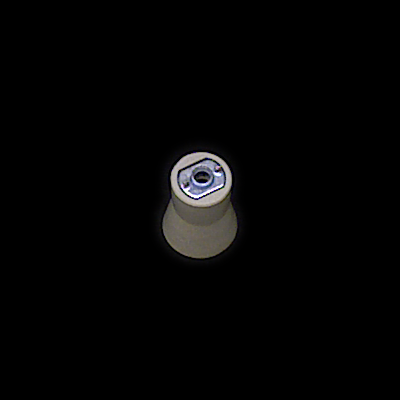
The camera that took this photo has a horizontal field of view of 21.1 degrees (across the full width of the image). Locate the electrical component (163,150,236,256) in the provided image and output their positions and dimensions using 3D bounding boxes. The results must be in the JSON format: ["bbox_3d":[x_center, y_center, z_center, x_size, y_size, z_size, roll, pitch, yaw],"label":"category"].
[{"bbox_3d":[0.000,0.000,0.624,0.044,0.044,0.065,0,-26,-1],"label":"electrical component"}]
